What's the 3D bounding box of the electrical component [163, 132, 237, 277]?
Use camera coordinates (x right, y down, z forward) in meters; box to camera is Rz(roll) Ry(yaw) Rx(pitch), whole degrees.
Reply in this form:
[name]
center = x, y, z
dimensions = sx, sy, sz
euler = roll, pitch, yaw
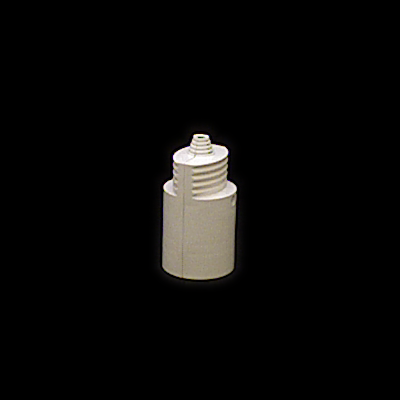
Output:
[electrical component]
center = 0.000, 0.000, 0.634
dimensions = 0.043, 0.082, 0.042
euler = 1, 21, 0
